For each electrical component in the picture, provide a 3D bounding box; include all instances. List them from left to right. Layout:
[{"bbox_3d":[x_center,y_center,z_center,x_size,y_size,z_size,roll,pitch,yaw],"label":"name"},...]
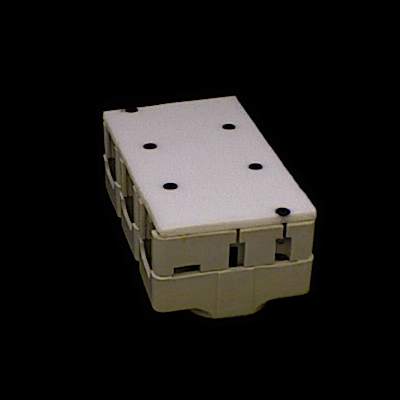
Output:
[{"bbox_3d":[0.000,0.000,0.638,0.089,0.063,0.147,-8,32,-13],"label":"electrical component"}]
